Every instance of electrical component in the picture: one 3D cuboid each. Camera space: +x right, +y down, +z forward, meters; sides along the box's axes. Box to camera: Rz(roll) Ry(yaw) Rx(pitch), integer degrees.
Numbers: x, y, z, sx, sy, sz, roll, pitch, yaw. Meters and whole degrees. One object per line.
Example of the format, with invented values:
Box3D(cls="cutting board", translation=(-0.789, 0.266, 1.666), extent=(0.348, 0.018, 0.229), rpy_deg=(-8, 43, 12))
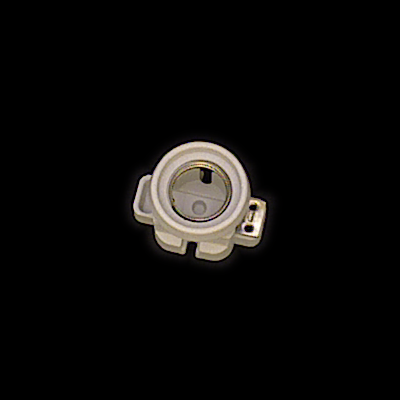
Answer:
Box3D(cls="electrical component", translation=(0.000, 0.000, 0.629), extent=(0.078, 0.058, 0.056), rpy_deg=(13, -17, 3))
